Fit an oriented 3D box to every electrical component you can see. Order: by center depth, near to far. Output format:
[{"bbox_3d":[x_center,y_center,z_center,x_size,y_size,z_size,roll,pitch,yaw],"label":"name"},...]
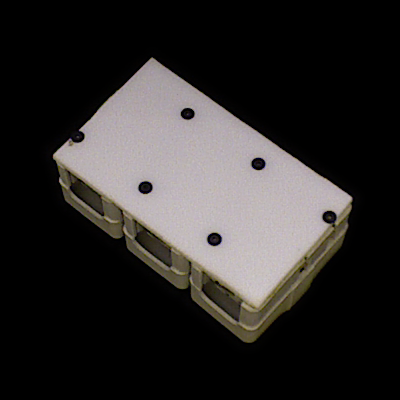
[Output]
[{"bbox_3d":[0.000,0.000,0.631,0.150,0.089,0.062,37,-21,17],"label":"electrical component"}]
